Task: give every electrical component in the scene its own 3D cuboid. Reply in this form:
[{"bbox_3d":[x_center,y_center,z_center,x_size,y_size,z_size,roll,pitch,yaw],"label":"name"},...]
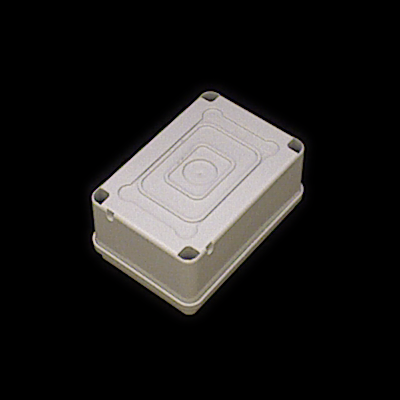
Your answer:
[{"bbox_3d":[0.000,0.000,0.629,0.078,0.057,0.113,32,58,22],"label":"electrical component"}]
